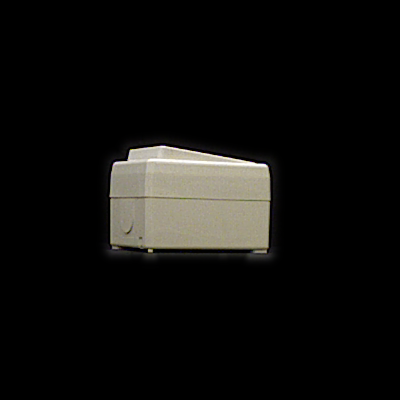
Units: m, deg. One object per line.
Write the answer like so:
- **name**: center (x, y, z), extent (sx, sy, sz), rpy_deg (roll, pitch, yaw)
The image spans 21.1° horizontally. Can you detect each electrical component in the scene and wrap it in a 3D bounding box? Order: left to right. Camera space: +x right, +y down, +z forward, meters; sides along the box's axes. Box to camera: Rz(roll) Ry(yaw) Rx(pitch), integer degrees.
- **electrical component**: center (0.000, 0.000, 0.651), extent (0.096, 0.061, 0.061), rpy_deg (1, 0, -26)
